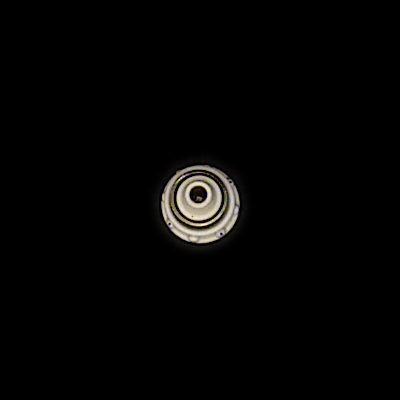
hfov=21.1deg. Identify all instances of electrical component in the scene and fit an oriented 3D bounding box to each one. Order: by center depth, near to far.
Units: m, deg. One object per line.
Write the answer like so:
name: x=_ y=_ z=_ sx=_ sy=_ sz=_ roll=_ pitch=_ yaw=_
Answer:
electrical component: x=0.000 y=0.000 z=0.635 sx=0.048 sy=0.048 sz=0.061 roll=0 pitch=-6 yaw=0
